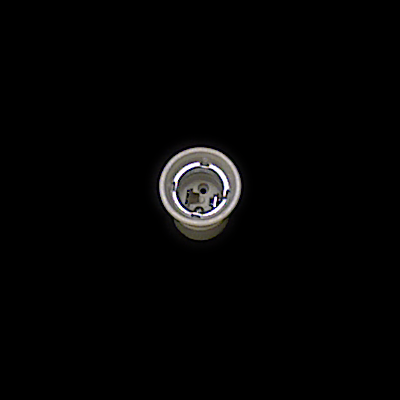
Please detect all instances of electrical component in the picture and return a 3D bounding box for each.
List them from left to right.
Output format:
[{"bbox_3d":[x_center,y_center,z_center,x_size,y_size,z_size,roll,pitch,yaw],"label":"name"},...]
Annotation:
[{"bbox_3d":[0.000,0.000,0.623,0.044,0.044,0.065,0,-16,0],"label":"electrical component"}]
